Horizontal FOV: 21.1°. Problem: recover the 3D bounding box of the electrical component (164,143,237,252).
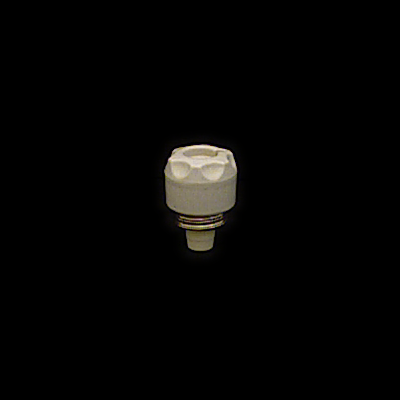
[{"bbox_3d":[0.000,0.000,0.645,0.043,0.063,0.043,0,23,0],"label":"electrical component"}]
